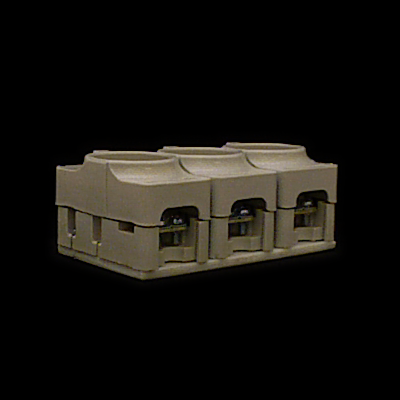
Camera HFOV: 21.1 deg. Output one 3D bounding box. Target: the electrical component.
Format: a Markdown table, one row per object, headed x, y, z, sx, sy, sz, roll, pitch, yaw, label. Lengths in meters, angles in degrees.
| x | y | z | sx | sy | sz | roll | pitch | yaw | label |
| --- | --- | --- | --- | --- | --- | --- | --- | --- | --- |
| 0.000 | 0.000 | 0.651 | 0.150 | 0.062 | 0.088 | -6 | 12 | -39 | electrical component |
